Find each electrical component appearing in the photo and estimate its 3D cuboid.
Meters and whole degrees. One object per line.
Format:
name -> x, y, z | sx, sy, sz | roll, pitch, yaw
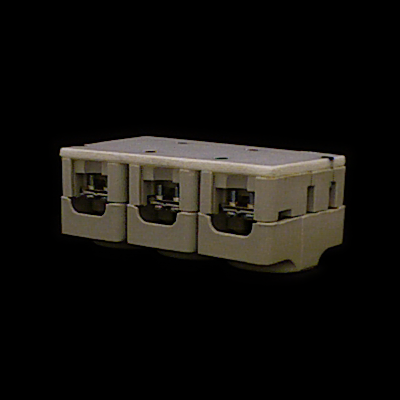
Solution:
electrical component -> 0.000, 0.000, 0.651 | 0.149, 0.062, 0.089 | 8, 13, 34
